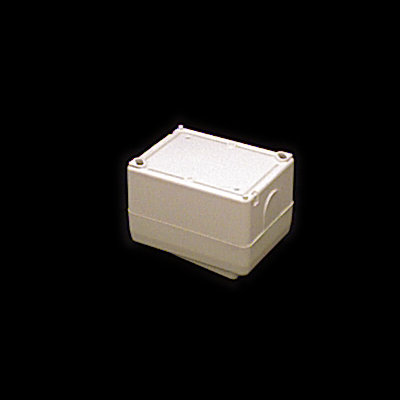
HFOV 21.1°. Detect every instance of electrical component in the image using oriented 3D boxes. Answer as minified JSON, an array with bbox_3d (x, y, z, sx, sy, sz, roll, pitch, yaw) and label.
[{"bbox_3d":[0.000,0.000,0.637,0.096,0.061,0.061,16,35,25],"label":"electrical component"}]
